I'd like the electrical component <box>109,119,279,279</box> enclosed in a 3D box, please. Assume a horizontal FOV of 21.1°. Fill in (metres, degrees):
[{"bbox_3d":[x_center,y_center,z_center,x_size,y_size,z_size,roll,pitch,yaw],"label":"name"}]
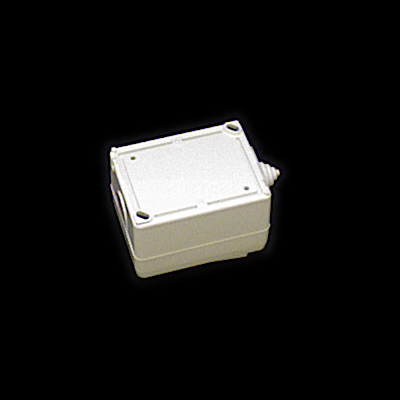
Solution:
[{"bbox_3d":[0.000,0.000,0.631,0.096,0.061,0.061,-13,-38,-11],"label":"electrical component"}]
